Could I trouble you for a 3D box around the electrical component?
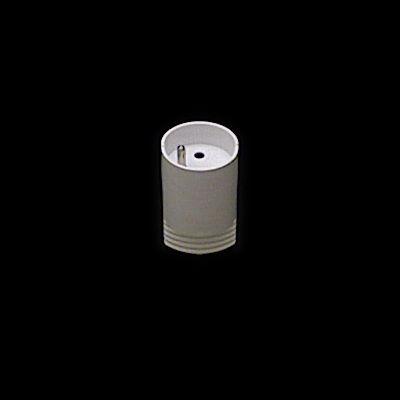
[{"bbox_3d":[0.000,0.000,0.621,0.043,0.082,0.042,0,41,0],"label":"electrical component"}]
